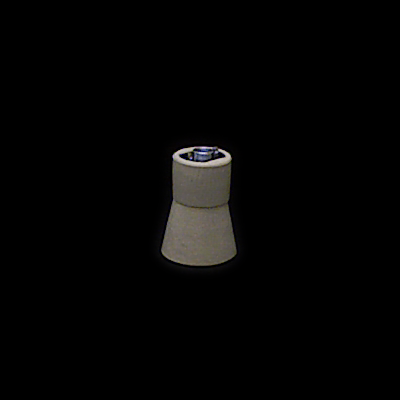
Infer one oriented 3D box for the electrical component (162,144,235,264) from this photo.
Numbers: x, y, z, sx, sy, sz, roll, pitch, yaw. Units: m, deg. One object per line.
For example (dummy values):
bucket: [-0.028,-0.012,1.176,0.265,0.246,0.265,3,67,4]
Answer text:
electrical component: [0.000,0.000,0.636,0.044,0.066,0.044,2,22,-1]
